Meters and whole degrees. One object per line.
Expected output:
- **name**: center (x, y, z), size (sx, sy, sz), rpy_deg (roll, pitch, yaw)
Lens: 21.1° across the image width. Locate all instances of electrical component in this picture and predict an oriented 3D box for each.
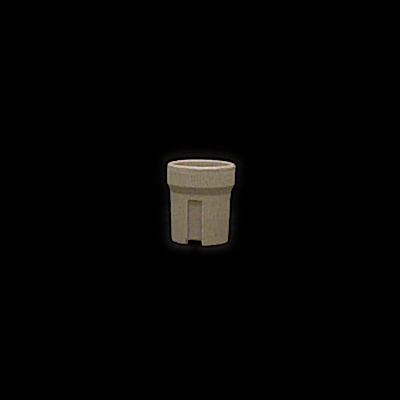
- **electrical component**: center (0.000, 0.000, 0.646), size (0.040, 0.046, 0.040), rpy_deg (1, 11, 0)
